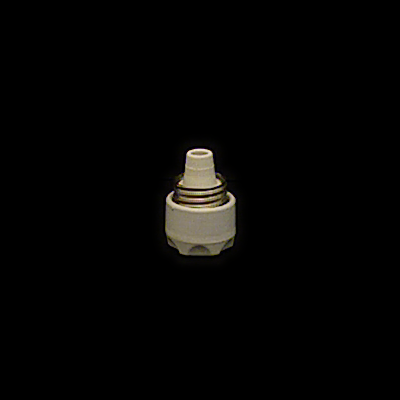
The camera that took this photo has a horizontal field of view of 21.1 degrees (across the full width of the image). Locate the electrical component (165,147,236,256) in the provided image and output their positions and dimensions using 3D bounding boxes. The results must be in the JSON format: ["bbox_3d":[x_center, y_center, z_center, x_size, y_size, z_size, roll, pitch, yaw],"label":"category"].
[{"bbox_3d":[0.000,0.000,0.646,0.043,0.063,0.043,0,22,1],"label":"electrical component"}]
